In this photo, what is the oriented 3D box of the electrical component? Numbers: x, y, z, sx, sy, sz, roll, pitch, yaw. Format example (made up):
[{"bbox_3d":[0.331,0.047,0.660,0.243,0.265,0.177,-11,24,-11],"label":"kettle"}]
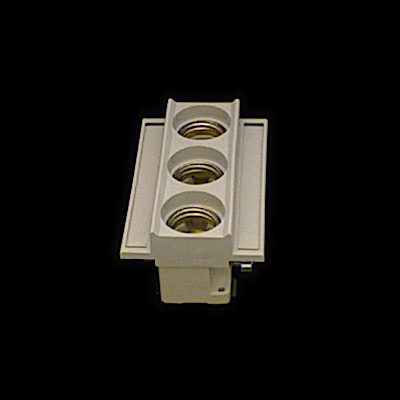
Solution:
[{"bbox_3d":[0.000,0.000,0.641,0.079,0.063,0.120,2,43,4],"label":"electrical component"}]
